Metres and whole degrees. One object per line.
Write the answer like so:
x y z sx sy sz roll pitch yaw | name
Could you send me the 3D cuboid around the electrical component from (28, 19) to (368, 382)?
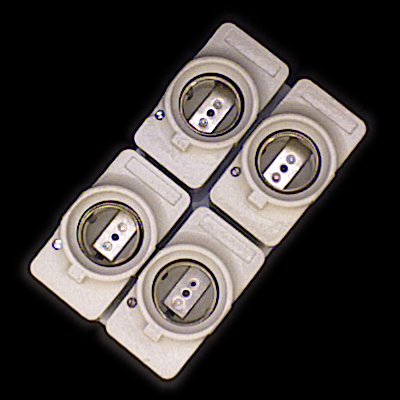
0.000 0.000 0.626 0.105 0.187 0.060 38 -5 4 | electrical component
